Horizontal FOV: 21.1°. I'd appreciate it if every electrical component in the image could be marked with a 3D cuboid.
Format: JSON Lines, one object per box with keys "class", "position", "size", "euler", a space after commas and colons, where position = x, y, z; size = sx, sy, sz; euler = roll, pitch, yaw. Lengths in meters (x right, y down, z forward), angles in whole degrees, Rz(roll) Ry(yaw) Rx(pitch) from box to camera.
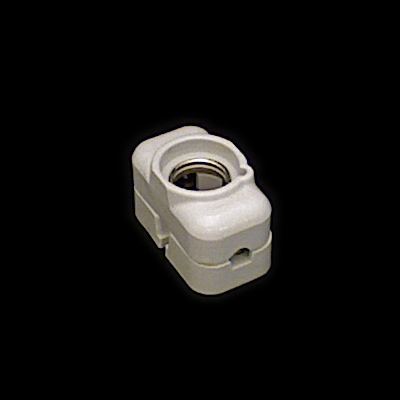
{"class": "electrical component", "position": [0.000, 0.000, 0.638], "size": [0.054, 0.060, 0.094], "euler": [-22, 47, -22]}
